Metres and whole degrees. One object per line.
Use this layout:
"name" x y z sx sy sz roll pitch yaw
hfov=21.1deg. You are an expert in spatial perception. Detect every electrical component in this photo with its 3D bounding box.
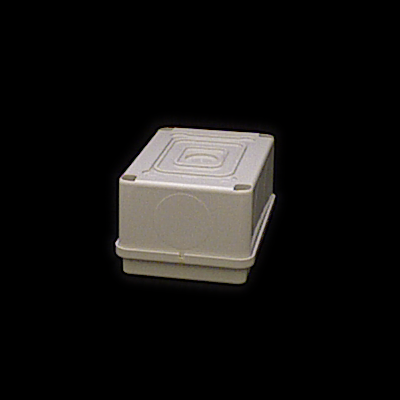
"electrical component" 0.000 0.000 0.639 0.078 0.058 0.112 5 22 10
